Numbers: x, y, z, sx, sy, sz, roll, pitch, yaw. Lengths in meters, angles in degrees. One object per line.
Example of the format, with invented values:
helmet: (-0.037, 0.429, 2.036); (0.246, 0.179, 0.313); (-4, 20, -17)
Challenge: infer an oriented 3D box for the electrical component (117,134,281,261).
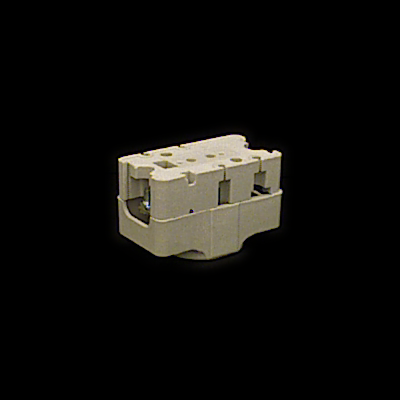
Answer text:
electrical component: (0.000, 0.000, 0.646); (0.090, 0.056, 0.049); (-14, 27, -33)
